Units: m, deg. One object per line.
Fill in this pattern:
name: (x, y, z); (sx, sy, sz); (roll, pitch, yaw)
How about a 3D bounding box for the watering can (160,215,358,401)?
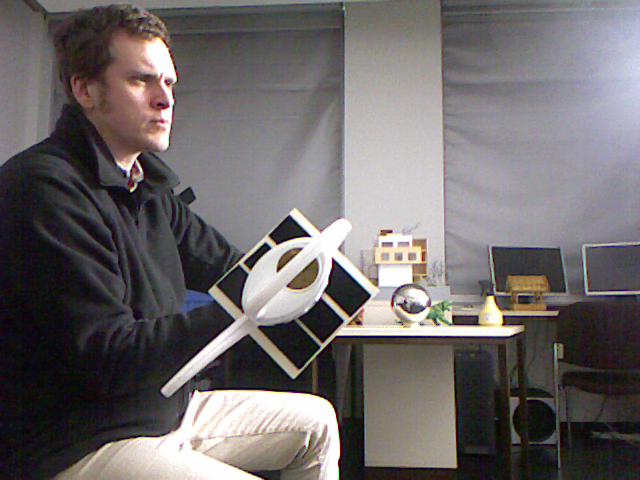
watering can: (-0.075, 0.093, 0.768); (0.350, 0.105, 0.223); (-43, -9, -4)
